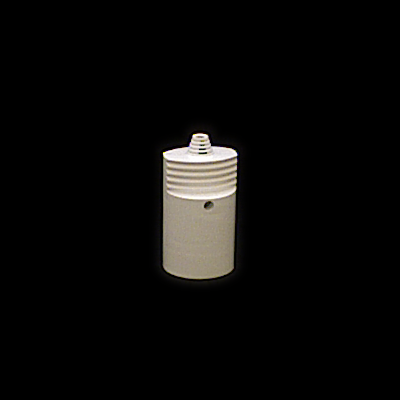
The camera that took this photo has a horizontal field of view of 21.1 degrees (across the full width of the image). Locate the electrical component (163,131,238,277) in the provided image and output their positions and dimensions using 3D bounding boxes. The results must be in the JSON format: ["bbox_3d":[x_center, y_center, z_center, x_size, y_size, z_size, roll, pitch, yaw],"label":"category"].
[{"bbox_3d":[0.000,0.000,0.634,0.043,0.082,0.042,1,21,0],"label":"electrical component"}]
